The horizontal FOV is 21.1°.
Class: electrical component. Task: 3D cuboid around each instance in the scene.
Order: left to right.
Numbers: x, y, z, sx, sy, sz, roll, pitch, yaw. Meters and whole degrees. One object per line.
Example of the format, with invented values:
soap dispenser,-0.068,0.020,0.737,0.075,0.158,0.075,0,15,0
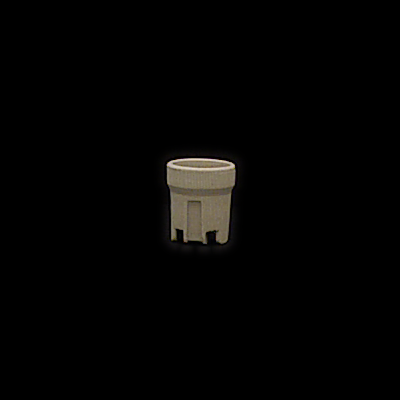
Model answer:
electrical component,0.000,0.000,0.642,0.040,0.046,0.040,1,11,0
